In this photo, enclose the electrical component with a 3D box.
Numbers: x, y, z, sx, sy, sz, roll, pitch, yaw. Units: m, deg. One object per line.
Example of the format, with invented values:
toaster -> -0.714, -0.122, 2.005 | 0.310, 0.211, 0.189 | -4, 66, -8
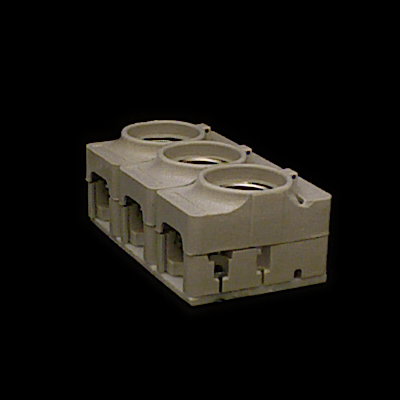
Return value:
electrical component -> 0.000, 0.000, 0.646 | 0.089, 0.063, 0.147 | -9, 23, -27
